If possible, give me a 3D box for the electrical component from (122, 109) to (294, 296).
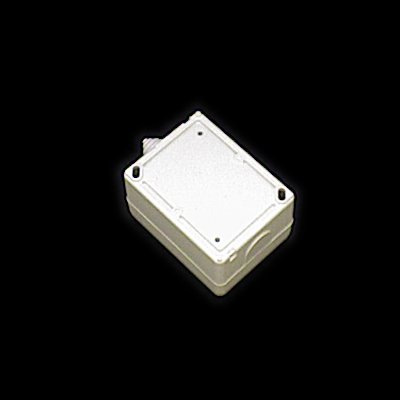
[{"bbox_3d":[0.000,0.000,0.628,0.062,0.096,0.061,-41,-20,-18],"label":"electrical component"}]
